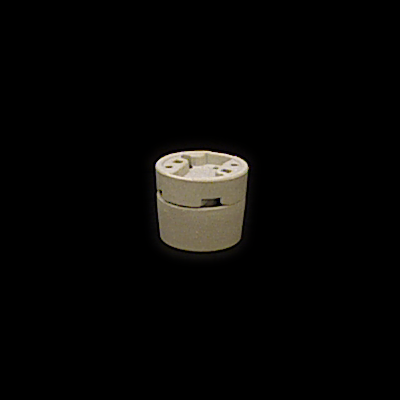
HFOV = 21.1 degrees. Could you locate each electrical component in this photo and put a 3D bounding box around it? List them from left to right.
[{"bbox_3d":[0.000,0.000,0.643,0.055,0.047,0.055,1,22,0],"label":"electrical component"}]
